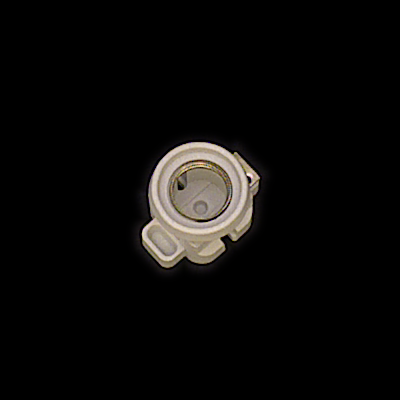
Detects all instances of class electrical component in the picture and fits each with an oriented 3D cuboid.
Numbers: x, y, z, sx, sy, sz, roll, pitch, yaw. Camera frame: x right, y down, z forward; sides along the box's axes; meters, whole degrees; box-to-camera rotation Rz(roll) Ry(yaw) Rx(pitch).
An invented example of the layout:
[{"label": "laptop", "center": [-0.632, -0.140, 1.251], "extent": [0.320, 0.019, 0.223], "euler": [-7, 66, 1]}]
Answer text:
[{"label": "electrical component", "center": [0.000, 0.000, 0.629], "extent": [0.079, 0.058, 0.056], "euler": [-41, -12, -11]}]
